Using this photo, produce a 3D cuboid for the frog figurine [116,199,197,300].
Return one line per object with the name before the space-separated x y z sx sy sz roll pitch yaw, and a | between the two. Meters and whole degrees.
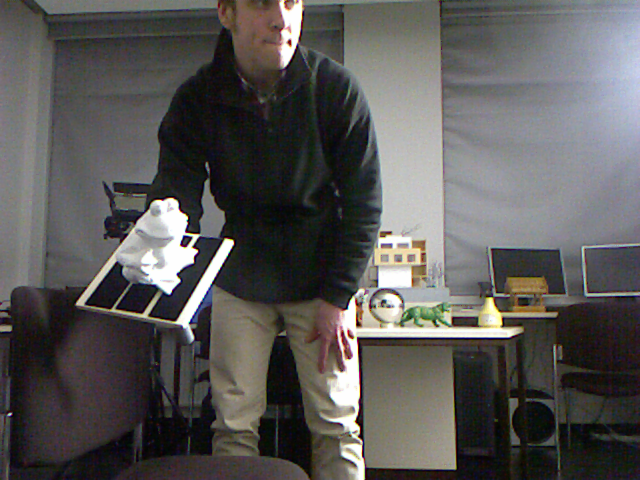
frog figurine | -0.281 0.000 0.864 0.124 0.156 0.140 26 53 29
